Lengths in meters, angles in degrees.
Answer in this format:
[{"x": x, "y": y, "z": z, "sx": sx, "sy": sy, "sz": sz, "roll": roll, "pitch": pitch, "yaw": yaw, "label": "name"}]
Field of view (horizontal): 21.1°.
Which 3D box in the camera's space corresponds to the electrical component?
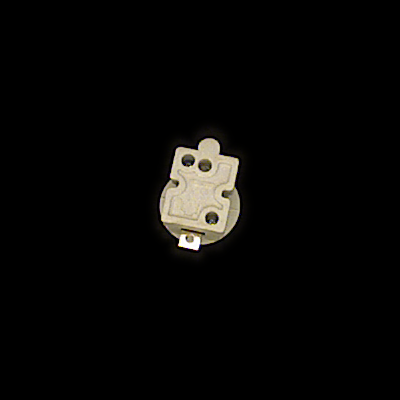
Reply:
[{"x": 0.000, "y": 0.000, "z": 0.638, "sx": 0.048, "sy": 0.067, "sz": 0.055, "roll": 12, "pitch": -15, "yaw": 2, "label": "electrical component"}]
